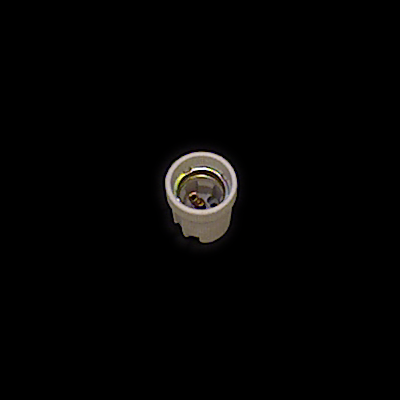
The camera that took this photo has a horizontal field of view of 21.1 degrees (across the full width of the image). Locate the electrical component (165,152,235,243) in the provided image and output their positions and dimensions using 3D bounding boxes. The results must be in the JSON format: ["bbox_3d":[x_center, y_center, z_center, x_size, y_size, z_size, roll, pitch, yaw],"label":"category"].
[{"bbox_3d":[0.000,0.000,0.627,0.040,0.040,0.046,0,-27,0],"label":"electrical component"}]
